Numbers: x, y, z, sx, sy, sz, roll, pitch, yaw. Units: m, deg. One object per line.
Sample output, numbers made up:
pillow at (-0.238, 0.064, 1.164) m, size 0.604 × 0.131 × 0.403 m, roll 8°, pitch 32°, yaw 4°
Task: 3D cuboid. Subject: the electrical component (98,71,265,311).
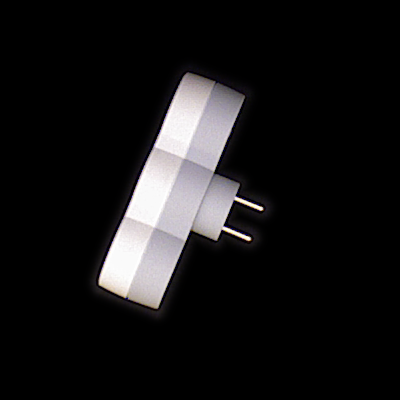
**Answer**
electrical component at (0.000, 0.000, 0.632) m, size 0.074 × 0.138 × 0.052 m, roll 22°, pitch -7°, yaw 0°
